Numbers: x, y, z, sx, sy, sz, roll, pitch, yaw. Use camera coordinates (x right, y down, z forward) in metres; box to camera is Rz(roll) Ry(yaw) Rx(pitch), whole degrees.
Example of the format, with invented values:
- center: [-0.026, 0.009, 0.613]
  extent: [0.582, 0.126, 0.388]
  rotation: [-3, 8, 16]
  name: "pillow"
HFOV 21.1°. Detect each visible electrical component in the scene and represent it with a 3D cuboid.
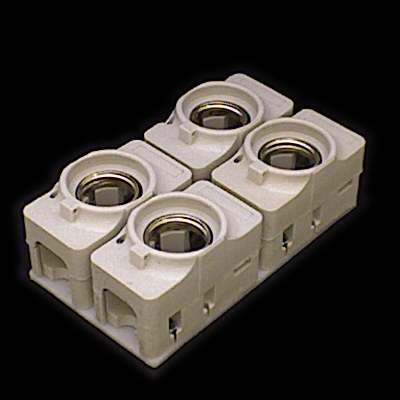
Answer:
- center: [0.000, 0.000, 0.629]
  extent: [0.105, 0.061, 0.186]
  rotation: [32, 51, 30]
  name: "electrical component"
